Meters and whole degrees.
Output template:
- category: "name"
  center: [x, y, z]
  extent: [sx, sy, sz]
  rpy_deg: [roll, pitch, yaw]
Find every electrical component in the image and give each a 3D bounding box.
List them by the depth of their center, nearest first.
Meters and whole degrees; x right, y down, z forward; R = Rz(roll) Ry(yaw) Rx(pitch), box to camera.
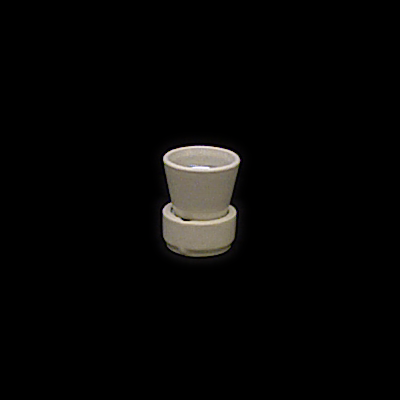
- category: "electrical component"
  center: [0.000, 0.000, 0.640]
  extent: [0.045, 0.056, 0.044]
  rpy_deg: [1, 22, 0]
